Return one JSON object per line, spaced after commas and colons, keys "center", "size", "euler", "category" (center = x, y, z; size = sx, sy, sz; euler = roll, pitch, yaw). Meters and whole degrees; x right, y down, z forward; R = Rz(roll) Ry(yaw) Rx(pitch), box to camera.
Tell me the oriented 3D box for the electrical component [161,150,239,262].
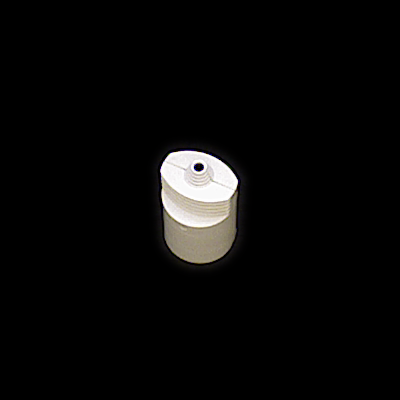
{"center": [0.000, 0.000, 0.617], "size": [0.043, 0.043, 0.081], "euler": [0, -27, 0], "category": "electrical component"}
